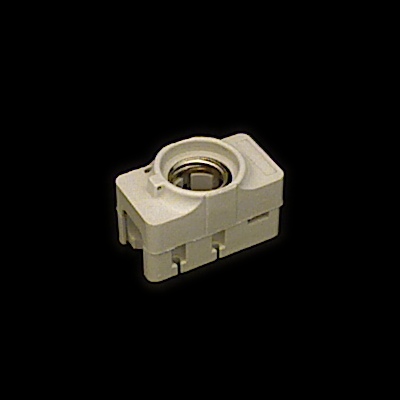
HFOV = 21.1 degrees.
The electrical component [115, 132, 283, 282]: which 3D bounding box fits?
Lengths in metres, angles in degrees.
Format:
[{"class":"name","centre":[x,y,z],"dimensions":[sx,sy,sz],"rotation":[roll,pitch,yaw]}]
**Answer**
[{"class":"electrical component","centre":[0.000,0.000,0.640],"dimensions":[0.090,0.056,0.049],"rotation":[-21,47,-22]}]
